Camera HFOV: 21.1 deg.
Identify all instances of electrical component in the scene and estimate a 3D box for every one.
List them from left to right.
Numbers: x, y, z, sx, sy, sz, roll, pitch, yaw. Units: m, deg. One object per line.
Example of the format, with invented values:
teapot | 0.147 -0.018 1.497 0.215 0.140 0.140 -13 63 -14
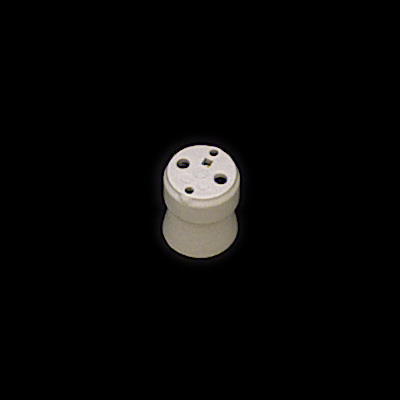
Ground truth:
electrical component | 0.000 0.000 0.630 0.045 0.044 0.055 0 -37 0
